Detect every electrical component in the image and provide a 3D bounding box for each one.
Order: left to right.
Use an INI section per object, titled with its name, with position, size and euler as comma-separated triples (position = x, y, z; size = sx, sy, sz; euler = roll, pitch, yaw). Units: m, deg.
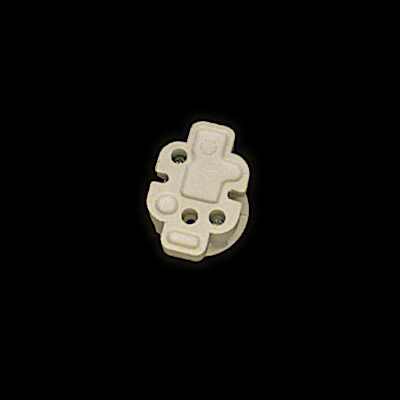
[electrical component]
position = 0.000, 0.000, 0.636
size = 0.058, 0.079, 0.056
euler = 12, -17, 5
